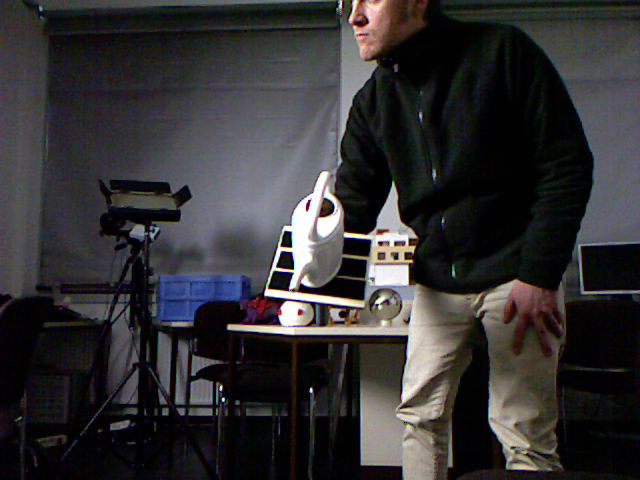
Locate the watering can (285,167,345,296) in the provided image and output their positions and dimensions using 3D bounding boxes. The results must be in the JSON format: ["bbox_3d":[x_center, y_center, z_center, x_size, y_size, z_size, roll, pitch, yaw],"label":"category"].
[{"bbox_3d":[-0.012,0.015,0.994,0.104,0.356,0.219,9,-43,9],"label":"watering can"}]
